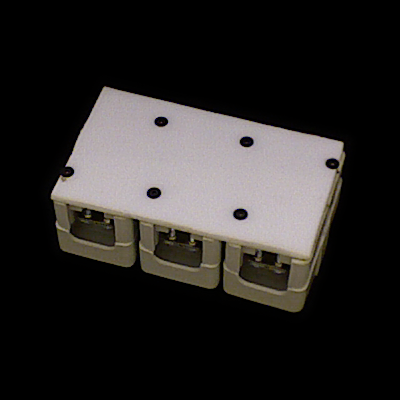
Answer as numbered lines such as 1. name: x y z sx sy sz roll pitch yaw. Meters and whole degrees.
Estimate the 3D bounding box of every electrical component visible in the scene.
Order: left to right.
1. electrical component: 0.000 0.000 0.634 0.150 0.088 0.062 14 -36 10
